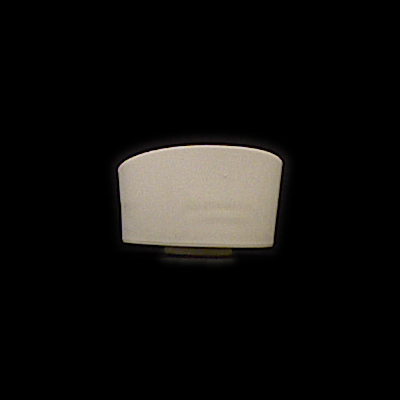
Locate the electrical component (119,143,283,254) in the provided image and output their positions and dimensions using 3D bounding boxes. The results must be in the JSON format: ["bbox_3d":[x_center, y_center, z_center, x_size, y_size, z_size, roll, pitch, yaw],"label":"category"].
[{"bbox_3d":[0.000,0.000,0.649,0.099,0.064,0.099,2,1,0],"label":"electrical component"}]
